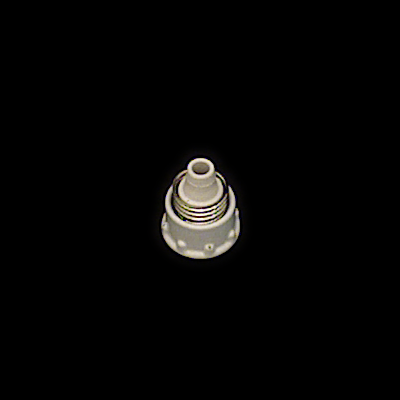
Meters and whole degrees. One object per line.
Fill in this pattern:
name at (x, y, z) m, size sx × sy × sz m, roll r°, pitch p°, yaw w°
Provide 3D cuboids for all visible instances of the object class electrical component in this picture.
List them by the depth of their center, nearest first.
electrical component at (0.000, 0.000, 0.636) m, size 0.048 × 0.048 × 0.062 m, roll 0°, pitch -38°, yaw -1°
